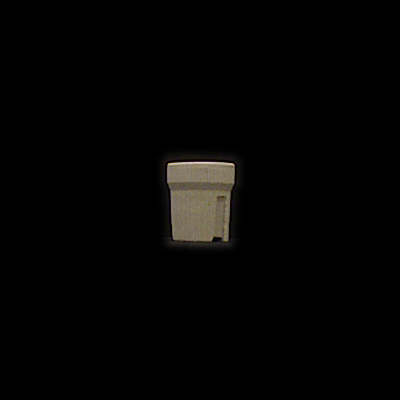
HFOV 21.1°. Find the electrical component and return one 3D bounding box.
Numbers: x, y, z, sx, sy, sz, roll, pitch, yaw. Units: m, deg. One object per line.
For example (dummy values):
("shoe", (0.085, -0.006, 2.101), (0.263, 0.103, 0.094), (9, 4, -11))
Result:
("electrical component", (0.000, 0.000, 0.650), (0.040, 0.046, 0.040), (1, 1, 1))
